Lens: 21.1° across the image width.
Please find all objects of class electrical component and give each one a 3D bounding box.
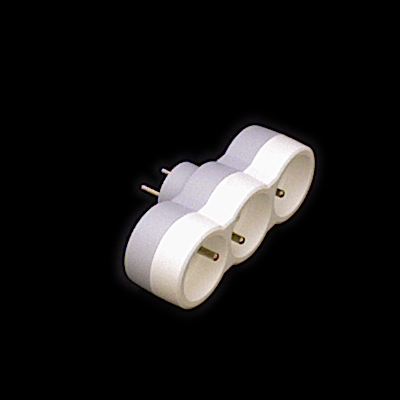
[{"bbox_3d":[0.000,0.000,0.631,0.073,0.052,0.138,26,48,28],"label":"electrical component"}]
